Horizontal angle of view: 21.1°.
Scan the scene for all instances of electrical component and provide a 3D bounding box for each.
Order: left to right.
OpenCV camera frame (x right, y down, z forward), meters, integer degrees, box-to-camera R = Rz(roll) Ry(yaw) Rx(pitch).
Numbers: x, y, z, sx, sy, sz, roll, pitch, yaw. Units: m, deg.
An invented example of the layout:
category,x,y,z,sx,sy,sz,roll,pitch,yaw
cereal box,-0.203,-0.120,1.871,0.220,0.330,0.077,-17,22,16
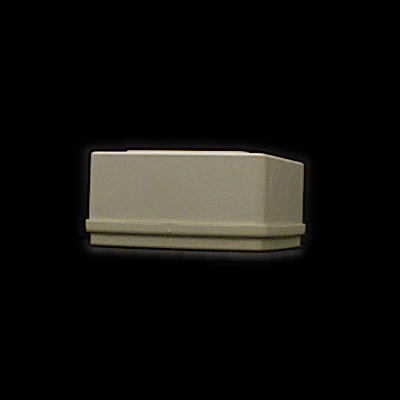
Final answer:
category,x,y,z,sx,sy,sz,roll,pitch,yaw
electrical component,0.000,0.000,0.652,0.108,0.056,0.109,2,0,18
